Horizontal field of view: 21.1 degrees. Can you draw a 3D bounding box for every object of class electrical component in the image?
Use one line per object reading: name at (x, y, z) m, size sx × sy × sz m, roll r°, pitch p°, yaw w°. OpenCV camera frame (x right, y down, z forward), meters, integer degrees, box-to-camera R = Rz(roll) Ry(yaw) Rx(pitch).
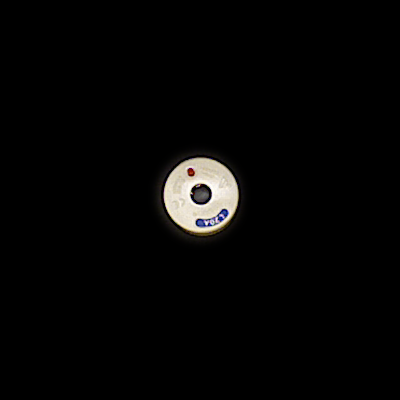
electrical component at (0.000, 0.000, 0.618) m, size 0.040 × 0.040 × 0.078 m, roll 0°, pitch -6°, yaw 1°
